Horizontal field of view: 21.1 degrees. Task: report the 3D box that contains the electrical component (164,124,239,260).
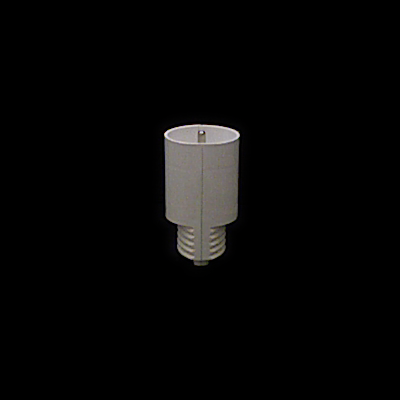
[{"bbox_3d":[0.000,0.000,0.636,0.043,0.082,0.042,2,21,0],"label":"electrical component"}]
